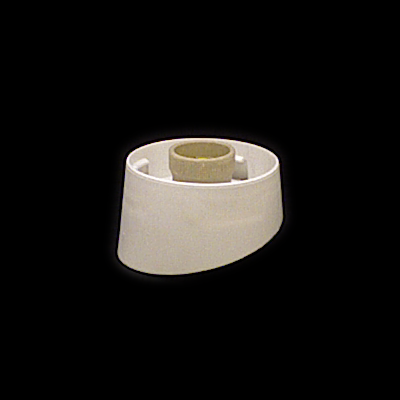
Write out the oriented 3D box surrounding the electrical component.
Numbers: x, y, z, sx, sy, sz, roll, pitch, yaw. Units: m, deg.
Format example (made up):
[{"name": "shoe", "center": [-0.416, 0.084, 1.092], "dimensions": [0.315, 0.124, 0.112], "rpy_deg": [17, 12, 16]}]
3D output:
[{"name": "electrical component", "center": [0.000, 0.000, 0.639], "dimensions": [0.099, 0.065, 0.097], "rpy_deg": [1, 21, 0]}]
